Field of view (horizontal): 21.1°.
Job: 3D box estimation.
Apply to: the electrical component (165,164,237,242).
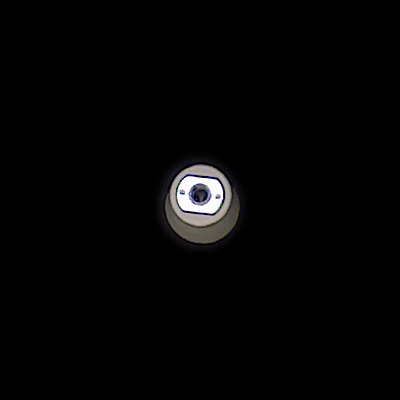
[{"bbox_3d":[0.000,0.000,0.626,0.044,0.044,0.065,0,-7,1],"label":"electrical component"}]
